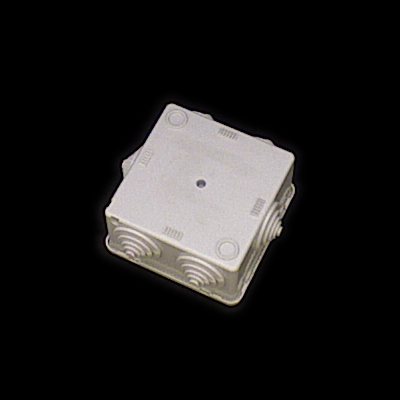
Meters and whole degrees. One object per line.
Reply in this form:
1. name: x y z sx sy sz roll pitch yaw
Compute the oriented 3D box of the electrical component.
1. electrical component: 0.000 0.000 0.631 0.099 0.100 0.048 24 -25 11
